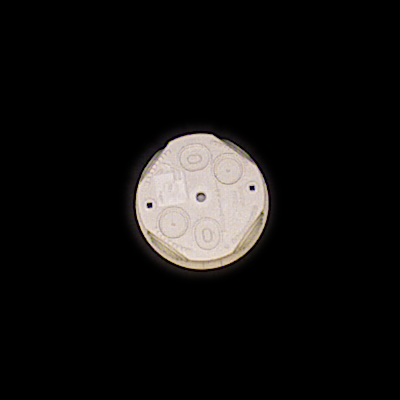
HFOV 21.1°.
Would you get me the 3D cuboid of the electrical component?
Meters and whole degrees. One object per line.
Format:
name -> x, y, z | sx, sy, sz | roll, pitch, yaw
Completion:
electrical component -> 0.000, 0.000, 0.633 | 0.080, 0.080, 0.050 | 0, -6, 1
